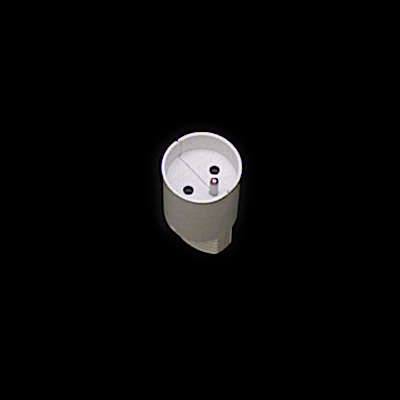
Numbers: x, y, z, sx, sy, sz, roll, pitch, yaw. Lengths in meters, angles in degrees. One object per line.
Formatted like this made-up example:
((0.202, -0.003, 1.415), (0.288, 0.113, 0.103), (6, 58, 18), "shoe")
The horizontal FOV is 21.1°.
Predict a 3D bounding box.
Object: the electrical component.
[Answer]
((0.000, 0.000, 0.616), (0.043, 0.043, 0.081), (0, -27, 0), "electrical component")
